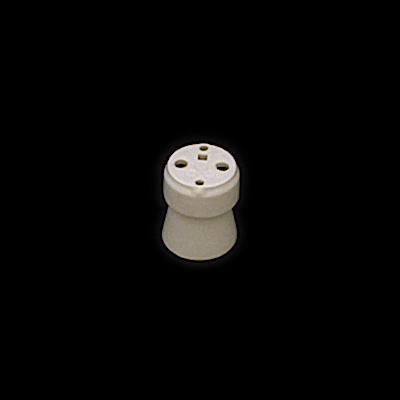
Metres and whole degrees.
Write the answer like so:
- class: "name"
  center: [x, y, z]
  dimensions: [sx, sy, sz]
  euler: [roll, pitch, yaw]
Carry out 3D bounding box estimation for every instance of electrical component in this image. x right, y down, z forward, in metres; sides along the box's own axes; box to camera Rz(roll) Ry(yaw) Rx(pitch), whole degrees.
- class: "electrical component"
  center: [0.000, 0.000, 0.632]
  dimensions: [0.045, 0.055, 0.044]
  euler: [1, 43, -1]
